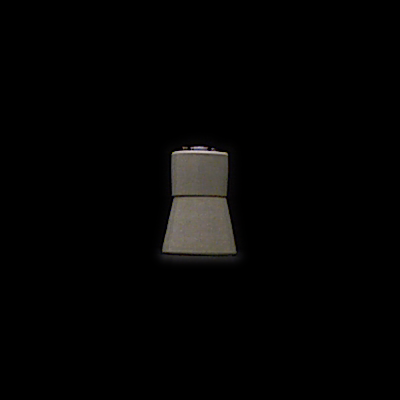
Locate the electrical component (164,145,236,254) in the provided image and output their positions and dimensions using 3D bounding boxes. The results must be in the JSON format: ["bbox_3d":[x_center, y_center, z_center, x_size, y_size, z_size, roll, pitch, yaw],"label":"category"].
[{"bbox_3d":[0.000,0.000,0.652,0.044,0.065,0.044,0,0,0],"label":"electrical component"}]
